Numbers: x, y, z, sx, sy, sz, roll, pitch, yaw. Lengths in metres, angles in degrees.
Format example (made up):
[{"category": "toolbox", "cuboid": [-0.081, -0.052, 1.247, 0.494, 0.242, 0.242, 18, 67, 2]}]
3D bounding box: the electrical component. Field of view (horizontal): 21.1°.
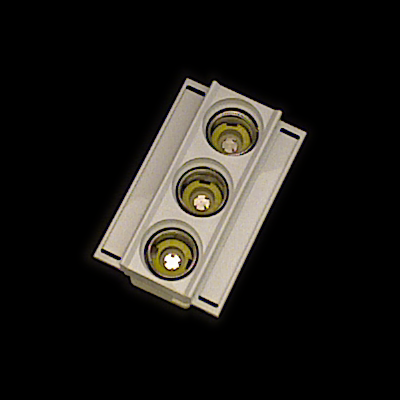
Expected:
[{"category": "electrical component", "cuboid": [0.000, 0.000, 0.637, 0.078, 0.122, 0.063, 25, -14, 6]}]
